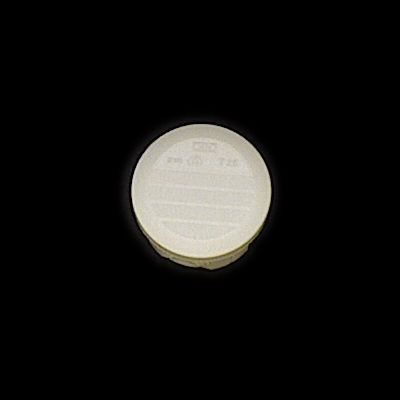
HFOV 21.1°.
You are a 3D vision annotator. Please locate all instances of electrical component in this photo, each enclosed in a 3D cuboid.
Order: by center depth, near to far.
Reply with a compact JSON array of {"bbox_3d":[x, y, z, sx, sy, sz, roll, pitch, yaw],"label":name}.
[{"bbox_3d":[0.000,0.000,0.630,0.080,0.080,0.050,0,-17,0],"label":"electrical component"}]
